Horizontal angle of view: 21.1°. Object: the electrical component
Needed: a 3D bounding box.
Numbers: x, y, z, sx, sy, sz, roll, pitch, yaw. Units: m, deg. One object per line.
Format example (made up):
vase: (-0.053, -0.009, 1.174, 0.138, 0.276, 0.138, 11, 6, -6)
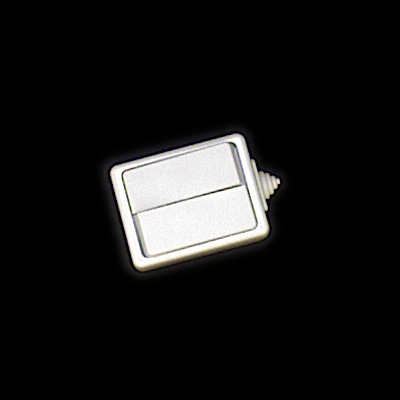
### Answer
electrical component: (0.000, 0.000, 0.627, 0.096, 0.062, 0.061, -15, -7, -1)
